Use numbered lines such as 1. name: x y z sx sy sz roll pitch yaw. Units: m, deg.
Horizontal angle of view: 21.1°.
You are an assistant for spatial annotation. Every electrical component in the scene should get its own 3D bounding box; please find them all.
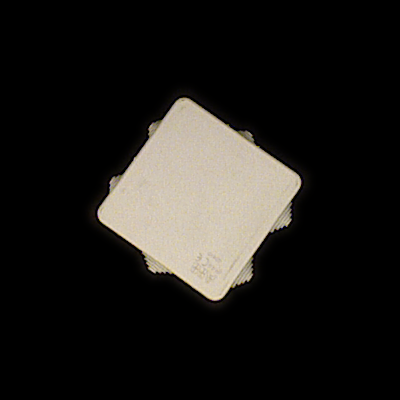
1. electrical component: 0.000 0.000 0.642 0.100 0.100 0.048 35 -5 3
